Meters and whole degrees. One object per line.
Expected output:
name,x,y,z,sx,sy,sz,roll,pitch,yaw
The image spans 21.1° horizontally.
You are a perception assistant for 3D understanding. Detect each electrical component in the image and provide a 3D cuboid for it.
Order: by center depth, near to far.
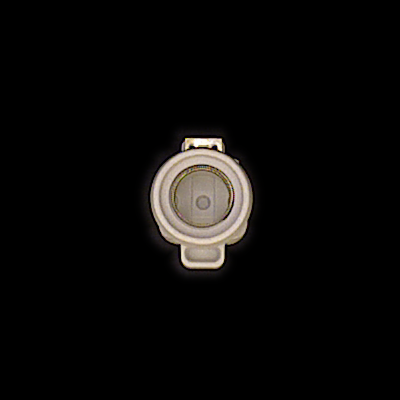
electrical component,0.000,0.000,0.630,0.058,0.078,0.056,0,-6,1
